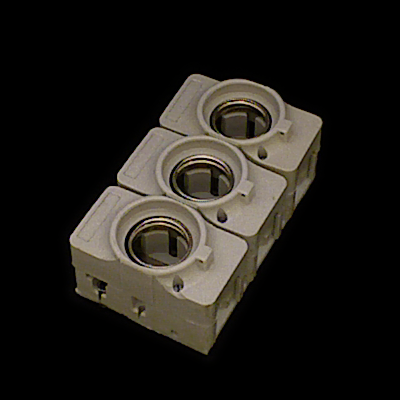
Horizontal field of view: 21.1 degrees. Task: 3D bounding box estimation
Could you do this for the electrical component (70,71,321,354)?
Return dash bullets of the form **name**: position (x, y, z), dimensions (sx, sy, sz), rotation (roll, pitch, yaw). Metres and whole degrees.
- **electrical component**: position (0.000, 0.000, 0.633), dimensions (0.089, 0.148, 0.062), rotation (23, -34, 15)
